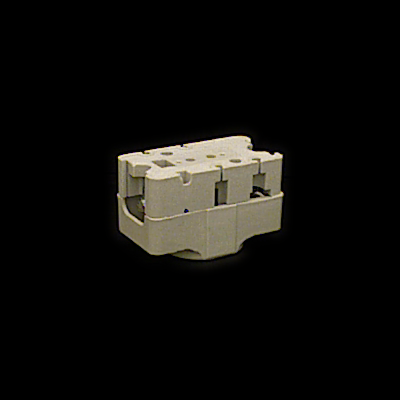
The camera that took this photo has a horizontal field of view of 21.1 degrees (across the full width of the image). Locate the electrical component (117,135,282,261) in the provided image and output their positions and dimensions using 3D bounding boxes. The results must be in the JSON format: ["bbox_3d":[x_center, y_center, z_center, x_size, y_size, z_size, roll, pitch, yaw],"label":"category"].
[{"bbox_3d":[0.000,0.000,0.646,0.090,0.056,0.049,-12,26,-28],"label":"electrical component"}]
